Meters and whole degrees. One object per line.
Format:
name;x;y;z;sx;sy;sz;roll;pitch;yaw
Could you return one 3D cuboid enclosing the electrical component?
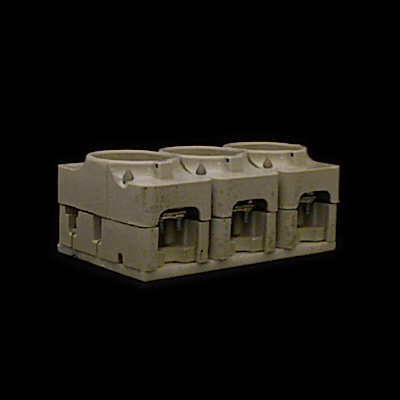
electrical component;0.000;0.000;0.650;0.149;0.062;0.089;-7;14;-39
